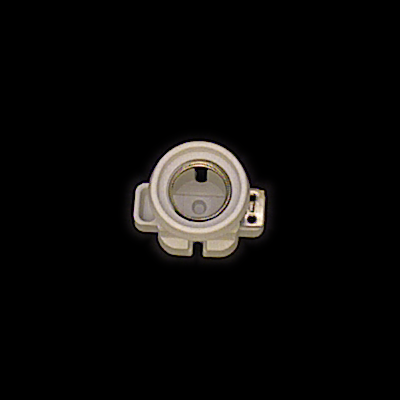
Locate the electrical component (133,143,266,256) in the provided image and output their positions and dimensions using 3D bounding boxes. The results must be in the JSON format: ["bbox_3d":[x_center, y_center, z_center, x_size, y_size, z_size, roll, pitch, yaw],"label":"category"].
[{"bbox_3d":[0.000,0.000,0.629,0.078,0.058,0.056,3,-17,1],"label":"electrical component"}]
